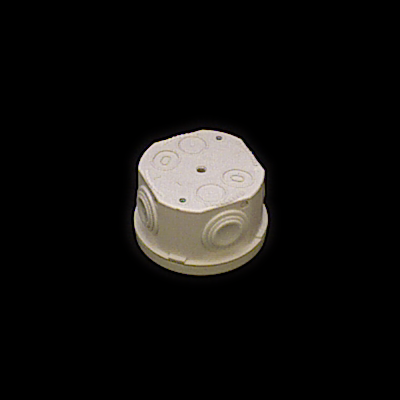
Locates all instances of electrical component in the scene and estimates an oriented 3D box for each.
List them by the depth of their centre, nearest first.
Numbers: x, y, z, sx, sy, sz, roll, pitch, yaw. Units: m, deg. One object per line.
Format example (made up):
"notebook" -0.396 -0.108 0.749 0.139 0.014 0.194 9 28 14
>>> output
"electrical component" 0.000 0.000 0.633 0.080 0.051 0.080 0 43 0
